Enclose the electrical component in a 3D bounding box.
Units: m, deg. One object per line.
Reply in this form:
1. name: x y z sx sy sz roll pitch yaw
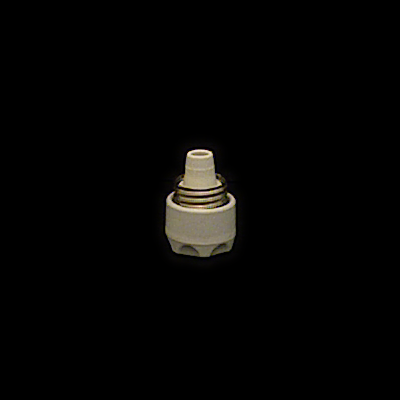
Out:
1. electrical component: 0.000 0.000 0.646 0.043 0.063 0.043 0 21 1
